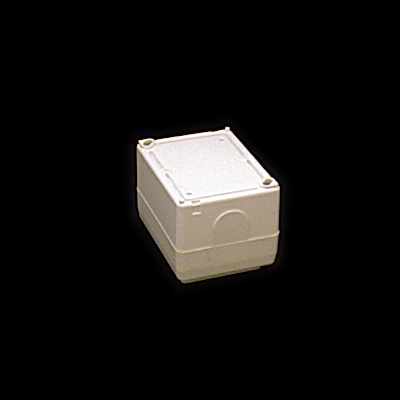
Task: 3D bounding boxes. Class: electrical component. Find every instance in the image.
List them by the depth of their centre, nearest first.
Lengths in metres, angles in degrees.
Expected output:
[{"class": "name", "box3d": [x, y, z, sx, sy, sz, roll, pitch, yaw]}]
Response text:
[{"class": "electrical component", "box3d": [0.000, 0.000, 0.637, 0.062, 0.061, 0.095, -10, 32, -18]}]
